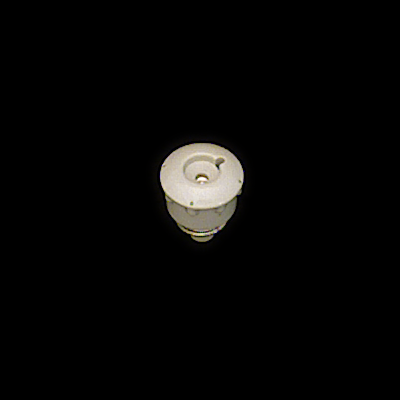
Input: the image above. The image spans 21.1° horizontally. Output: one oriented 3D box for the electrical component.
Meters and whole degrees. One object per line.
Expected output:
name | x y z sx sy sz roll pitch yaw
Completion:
electrical component | 0.000 0.000 0.636 0.048 0.048 0.062 0 -37 0
